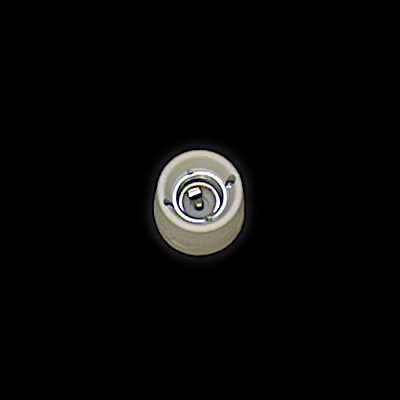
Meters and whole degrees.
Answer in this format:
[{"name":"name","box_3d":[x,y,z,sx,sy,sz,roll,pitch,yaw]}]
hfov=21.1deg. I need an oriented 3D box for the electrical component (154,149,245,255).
[{"name":"electrical component","box_3d":[0.000,0.000,0.633,0.055,0.056,0.047,0,-17,-1]}]
